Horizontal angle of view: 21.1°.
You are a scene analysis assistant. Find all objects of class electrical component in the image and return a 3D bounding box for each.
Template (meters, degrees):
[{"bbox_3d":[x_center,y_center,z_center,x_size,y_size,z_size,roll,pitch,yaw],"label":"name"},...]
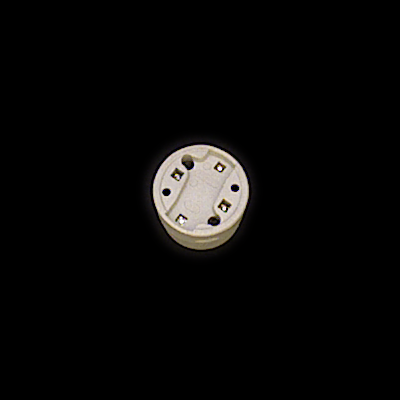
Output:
[{"bbox_3d":[0.000,0.000,0.635,0.055,0.056,0.047,0,-17,0],"label":"electrical component"}]
